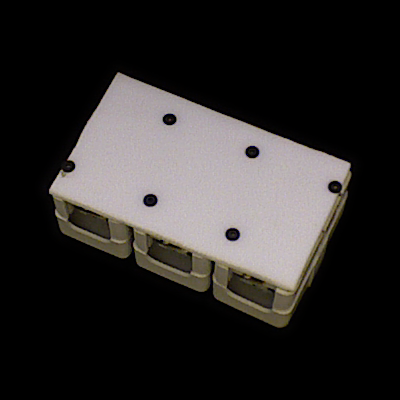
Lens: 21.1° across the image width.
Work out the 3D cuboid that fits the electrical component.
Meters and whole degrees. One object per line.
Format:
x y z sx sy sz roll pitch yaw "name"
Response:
0.000 0.000 0.632 0.150 0.089 0.062 23 -25 11 "electrical component"
